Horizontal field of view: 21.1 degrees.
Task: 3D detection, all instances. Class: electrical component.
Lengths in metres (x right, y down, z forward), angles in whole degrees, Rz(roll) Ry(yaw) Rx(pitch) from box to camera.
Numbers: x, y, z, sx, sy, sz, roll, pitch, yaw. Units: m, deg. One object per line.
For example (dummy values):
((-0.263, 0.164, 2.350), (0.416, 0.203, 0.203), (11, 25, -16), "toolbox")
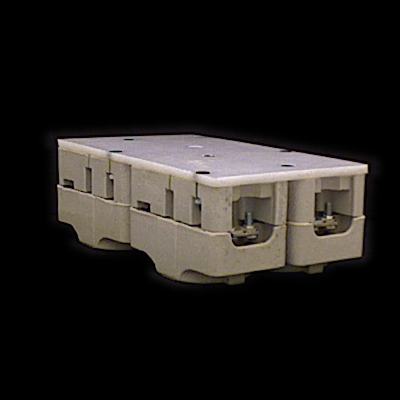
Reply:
((0.000, 0.000, 0.643), (0.105, 0.060, 0.184), (-5, 12, -33), "electrical component")
